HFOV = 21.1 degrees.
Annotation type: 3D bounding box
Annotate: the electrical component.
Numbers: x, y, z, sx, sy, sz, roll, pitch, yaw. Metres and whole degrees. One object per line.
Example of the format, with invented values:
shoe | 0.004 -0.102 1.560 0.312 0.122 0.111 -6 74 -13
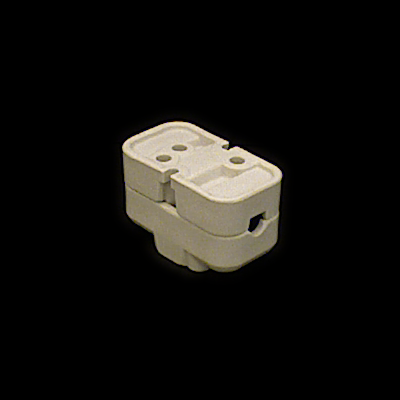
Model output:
electrical component | 0.000 0.000 0.639 0.054 0.060 0.094 -27 42 -37
